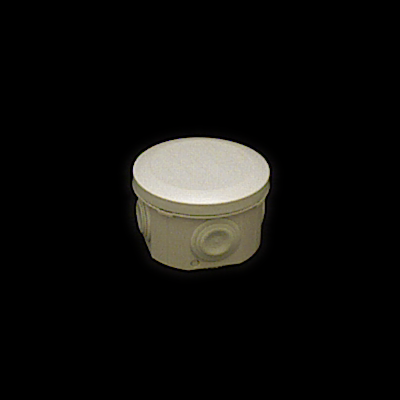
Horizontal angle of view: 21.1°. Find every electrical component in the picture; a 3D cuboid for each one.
[{"bbox_3d":[0.000,0.000,0.634,0.080,0.051,0.079,1,31,0],"label":"electrical component"}]
